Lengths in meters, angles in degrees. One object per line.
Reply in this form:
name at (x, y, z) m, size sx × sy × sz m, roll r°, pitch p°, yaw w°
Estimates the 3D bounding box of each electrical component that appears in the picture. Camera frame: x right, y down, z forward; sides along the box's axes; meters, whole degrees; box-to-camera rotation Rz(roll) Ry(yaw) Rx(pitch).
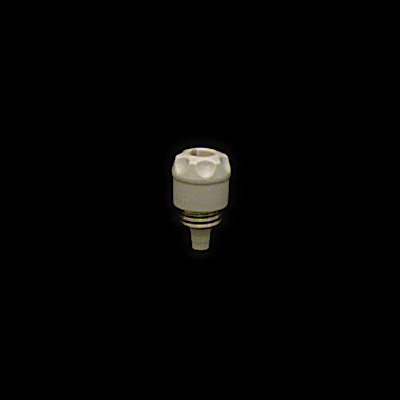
electrical component at (0.000, 0.000, 0.648) m, size 0.035 × 0.062 × 0.034 m, roll 1°, pitch 22°, yaw 0°
